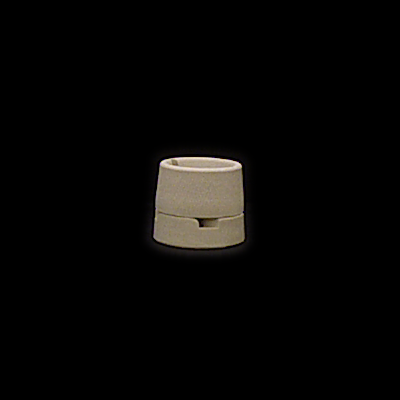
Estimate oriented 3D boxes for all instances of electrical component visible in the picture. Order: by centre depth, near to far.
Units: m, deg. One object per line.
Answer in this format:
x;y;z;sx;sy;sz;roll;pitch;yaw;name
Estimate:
0.000;0.000;0.645;0.055;0.047;0.055;2;12;0;electrical component
